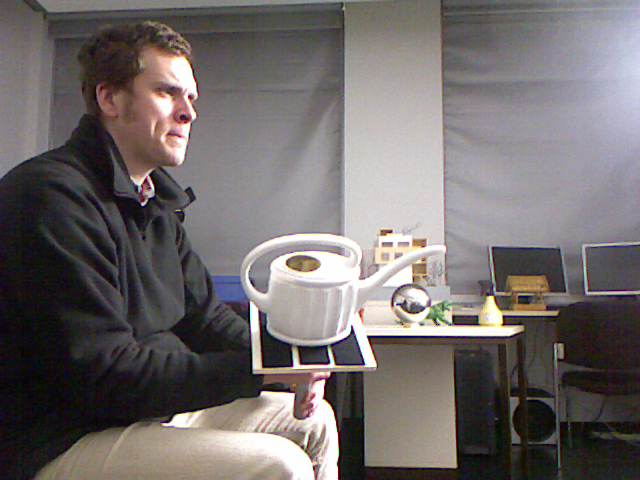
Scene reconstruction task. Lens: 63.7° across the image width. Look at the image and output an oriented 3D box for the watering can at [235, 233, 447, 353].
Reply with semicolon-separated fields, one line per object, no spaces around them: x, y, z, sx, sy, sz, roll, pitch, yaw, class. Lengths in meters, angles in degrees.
0.032;0.088;0.873;0.348;0.220;0.106;2;32;-8;watering can
